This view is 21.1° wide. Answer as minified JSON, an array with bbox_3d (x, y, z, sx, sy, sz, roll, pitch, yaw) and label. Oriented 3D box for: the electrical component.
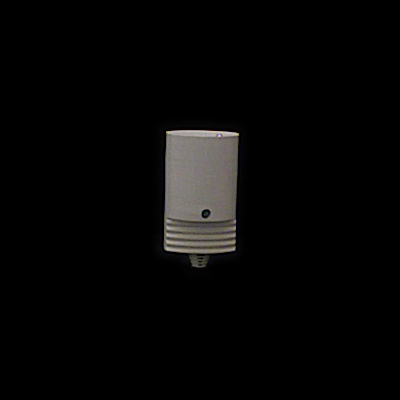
[{"bbox_3d":[0.000,0.000,0.644,0.043,0.082,0.042,2,12,0],"label":"electrical component"}]
